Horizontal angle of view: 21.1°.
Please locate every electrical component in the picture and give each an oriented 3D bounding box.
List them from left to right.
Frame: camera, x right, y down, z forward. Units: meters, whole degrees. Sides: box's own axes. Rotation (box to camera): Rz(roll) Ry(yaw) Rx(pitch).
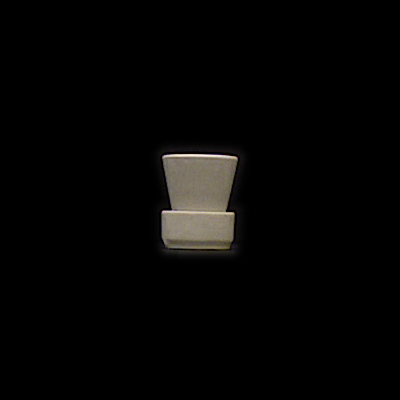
[{"bbox_3d":[0.000,0.000,0.649,0.045,0.055,0.044,1,2,0],"label":"electrical component"}]
